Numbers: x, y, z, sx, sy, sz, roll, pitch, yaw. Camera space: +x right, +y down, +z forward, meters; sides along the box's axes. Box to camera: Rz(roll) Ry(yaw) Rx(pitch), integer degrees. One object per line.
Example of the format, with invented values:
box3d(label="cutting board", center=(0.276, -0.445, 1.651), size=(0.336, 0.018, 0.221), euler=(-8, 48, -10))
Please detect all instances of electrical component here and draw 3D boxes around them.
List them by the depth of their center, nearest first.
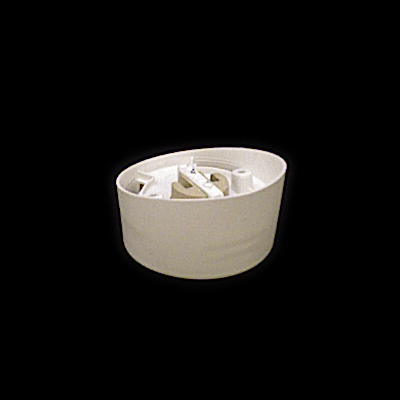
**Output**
box3d(label="electrical component", center=(0.000, 0.000, 0.632), size=(0.099, 0.065, 0.097), euler=(2, 32, -1))
